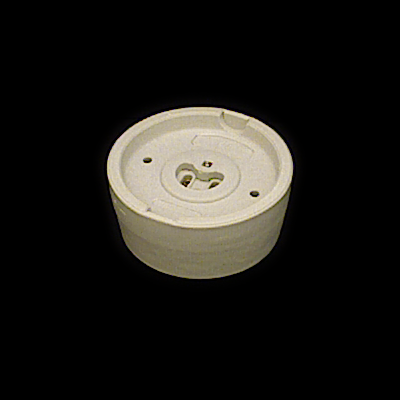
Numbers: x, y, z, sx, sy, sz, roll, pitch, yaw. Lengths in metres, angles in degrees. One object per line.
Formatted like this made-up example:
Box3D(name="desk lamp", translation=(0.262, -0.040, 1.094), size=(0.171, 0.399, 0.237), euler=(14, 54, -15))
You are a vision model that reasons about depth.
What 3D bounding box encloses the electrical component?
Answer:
Box3D(name="electrical component", translation=(0.000, 0.000, 0.641), size=(0.108, 0.061, 0.106), euler=(1, 43, 0))
